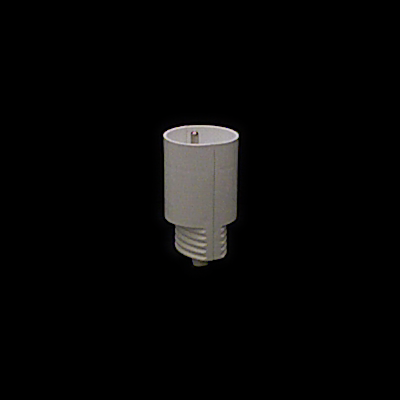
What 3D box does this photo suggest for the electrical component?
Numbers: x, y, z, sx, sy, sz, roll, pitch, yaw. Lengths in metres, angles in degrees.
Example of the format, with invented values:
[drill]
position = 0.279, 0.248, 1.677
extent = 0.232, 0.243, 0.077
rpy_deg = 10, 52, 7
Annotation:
[electrical component]
position = 0.000, 0.000, 0.635
extent = 0.043, 0.082, 0.042
rpy_deg = 1, 20, 0
